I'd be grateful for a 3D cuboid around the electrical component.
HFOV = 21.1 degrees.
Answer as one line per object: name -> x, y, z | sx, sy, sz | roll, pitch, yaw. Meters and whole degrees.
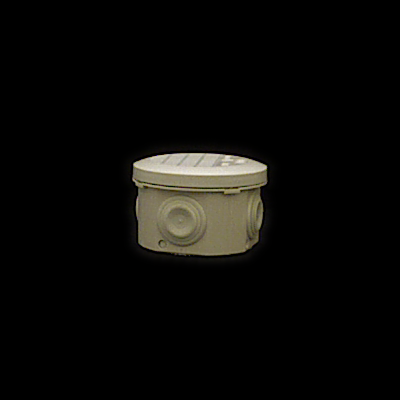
electrical component -> 0.000, 0.000, 0.642 | 0.080, 0.051, 0.079 | 1, 10, 0
